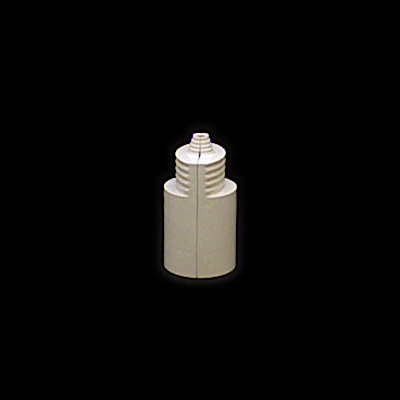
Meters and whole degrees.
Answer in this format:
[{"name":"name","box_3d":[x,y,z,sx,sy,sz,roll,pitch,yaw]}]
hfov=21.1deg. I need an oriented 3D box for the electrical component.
[{"name":"electrical component","box_3d":[0.000,0.000,0.636,0.043,0.082,0.042,1,21,0]}]
